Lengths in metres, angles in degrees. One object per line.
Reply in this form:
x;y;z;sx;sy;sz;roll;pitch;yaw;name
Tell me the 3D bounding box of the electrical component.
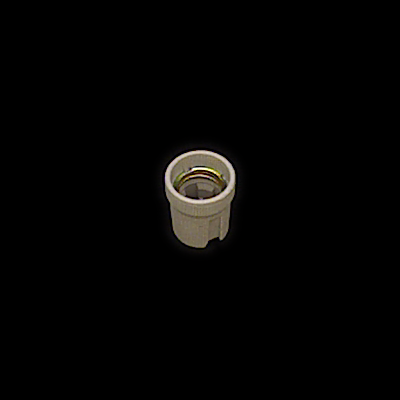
0.000;0.000;0.632;0.040;0.039;0.047;0;-38;-1;electrical component
